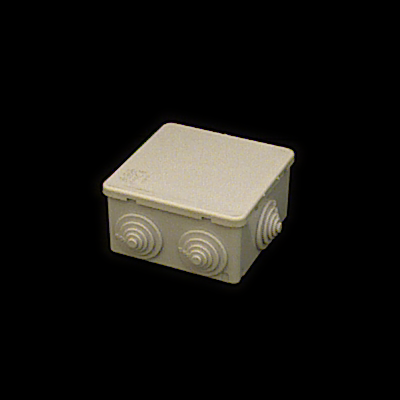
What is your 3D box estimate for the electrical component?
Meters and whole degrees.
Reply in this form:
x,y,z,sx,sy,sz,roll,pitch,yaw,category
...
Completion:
x,y,z,sx,sy,sz,roll,pitch,yaw,category
0.000,0.000,0.643,0.099,0.049,0.099,14,35,20,electrical component
